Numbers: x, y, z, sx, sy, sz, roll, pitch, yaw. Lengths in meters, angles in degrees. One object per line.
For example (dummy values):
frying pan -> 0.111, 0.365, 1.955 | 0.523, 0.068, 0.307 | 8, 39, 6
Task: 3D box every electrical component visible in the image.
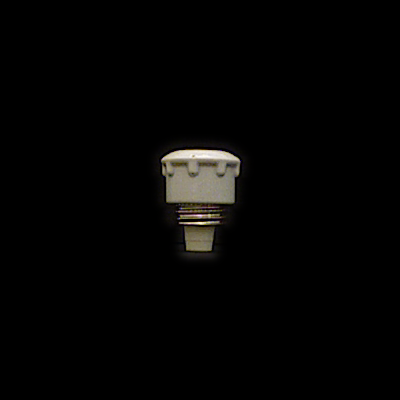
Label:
electrical component -> 0.000, 0.000, 0.655 | 0.048, 0.062, 0.048 | 1, 2, 0
